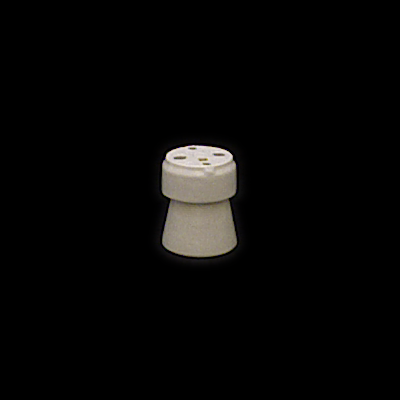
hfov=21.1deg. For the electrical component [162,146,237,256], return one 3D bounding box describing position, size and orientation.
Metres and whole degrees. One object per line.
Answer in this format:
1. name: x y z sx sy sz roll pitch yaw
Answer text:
1. electrical component: 0.000 0.000 0.639 0.045 0.056 0.044 1 21 0
